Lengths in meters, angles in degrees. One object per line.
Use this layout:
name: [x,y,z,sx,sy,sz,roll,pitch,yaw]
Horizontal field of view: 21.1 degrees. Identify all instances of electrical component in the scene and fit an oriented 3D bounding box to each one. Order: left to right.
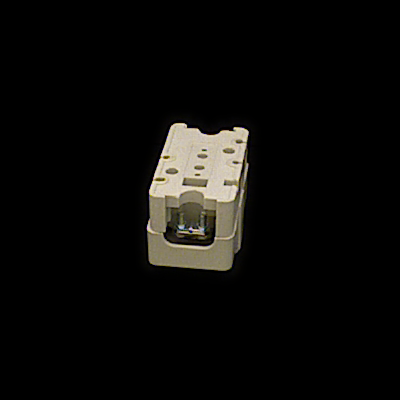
electrical component: [0.000,0.000,0.643,0.050,0.056,0.088,5,33,6]
